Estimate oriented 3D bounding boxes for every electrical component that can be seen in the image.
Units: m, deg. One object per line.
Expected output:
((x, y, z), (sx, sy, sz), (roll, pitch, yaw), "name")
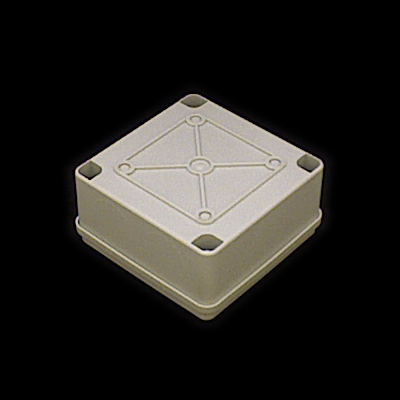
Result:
((0.000, 0.000, 0.630), (0.108, 0.056, 0.108), (31, 50, 29), "electrical component")
